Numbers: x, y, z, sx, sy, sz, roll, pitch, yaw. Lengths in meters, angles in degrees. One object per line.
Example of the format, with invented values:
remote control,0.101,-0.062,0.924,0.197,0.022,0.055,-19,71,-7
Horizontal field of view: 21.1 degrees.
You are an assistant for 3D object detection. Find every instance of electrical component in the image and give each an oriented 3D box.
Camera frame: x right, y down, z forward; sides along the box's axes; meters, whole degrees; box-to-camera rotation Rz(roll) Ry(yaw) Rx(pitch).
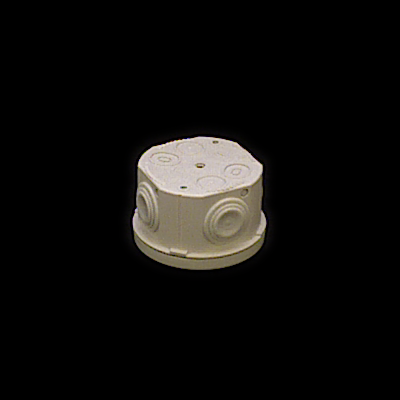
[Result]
electrical component,0.000,0.000,0.638,0.080,0.051,0.079,1,31,0
